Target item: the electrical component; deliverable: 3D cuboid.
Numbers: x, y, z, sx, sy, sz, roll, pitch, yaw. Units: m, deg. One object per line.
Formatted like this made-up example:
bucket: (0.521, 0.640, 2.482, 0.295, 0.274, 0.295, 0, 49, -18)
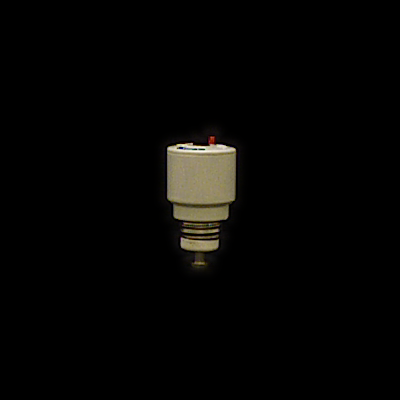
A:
electrical component: (0.000, 0.000, 0.644, 0.040, 0.079, 0.040, 1, 11, 0)
